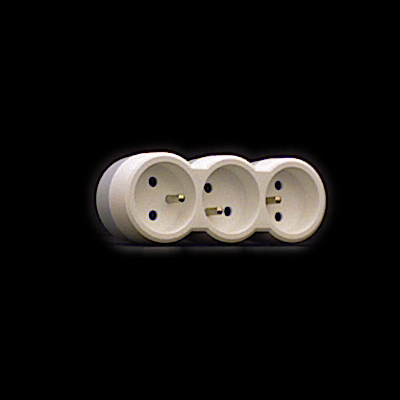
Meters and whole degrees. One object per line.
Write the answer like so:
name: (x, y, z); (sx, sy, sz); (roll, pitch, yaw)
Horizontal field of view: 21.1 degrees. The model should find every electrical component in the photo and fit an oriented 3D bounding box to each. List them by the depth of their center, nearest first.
electrical component: (0.000, 0.000, 0.648); (0.138, 0.052, 0.073); (0, -1, -31)
